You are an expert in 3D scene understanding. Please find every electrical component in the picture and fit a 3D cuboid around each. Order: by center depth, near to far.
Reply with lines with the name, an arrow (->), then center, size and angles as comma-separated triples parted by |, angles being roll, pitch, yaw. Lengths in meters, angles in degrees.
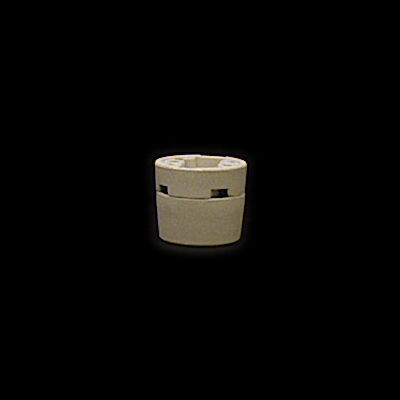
electrical component -> 0.000, 0.000, 0.645 | 0.055, 0.047, 0.055 | 1, 11, 0
